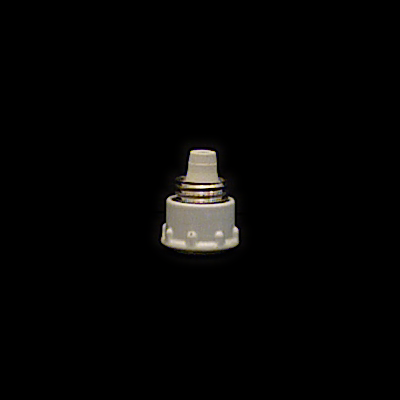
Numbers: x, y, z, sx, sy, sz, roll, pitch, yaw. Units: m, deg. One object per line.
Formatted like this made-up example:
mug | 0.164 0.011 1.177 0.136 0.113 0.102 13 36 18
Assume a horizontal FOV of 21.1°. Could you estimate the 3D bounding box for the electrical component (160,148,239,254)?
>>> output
electrical component | 0.000 0.000 0.652 0.048 0.062 0.048 2 11 0
